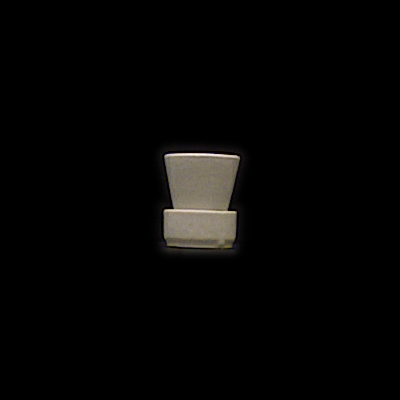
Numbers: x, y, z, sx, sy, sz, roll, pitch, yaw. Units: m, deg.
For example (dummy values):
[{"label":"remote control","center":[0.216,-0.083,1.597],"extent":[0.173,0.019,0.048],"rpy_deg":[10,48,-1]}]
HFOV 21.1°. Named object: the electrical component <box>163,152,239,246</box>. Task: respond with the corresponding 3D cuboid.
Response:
[{"label":"electrical component","center":[0.000,0.000,0.652],"extent":[0.045,0.055,0.045],"rpy_deg":[2,1,0]}]
